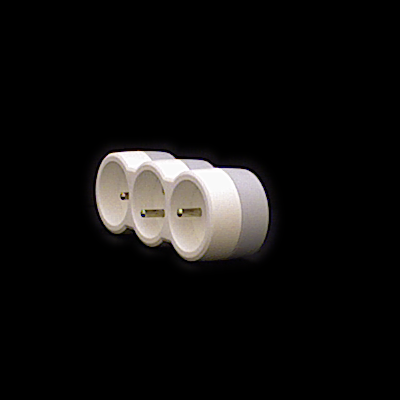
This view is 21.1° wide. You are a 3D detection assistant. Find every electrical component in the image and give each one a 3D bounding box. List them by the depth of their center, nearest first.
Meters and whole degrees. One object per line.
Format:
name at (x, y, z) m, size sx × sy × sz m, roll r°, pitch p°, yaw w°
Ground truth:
electrical component at (0.000, 0.000, 0.647) m, size 0.074 × 0.052 × 0.137 m, roll -3°, pitch 10°, yaw -33°
